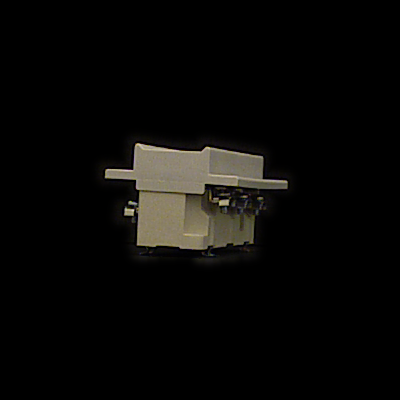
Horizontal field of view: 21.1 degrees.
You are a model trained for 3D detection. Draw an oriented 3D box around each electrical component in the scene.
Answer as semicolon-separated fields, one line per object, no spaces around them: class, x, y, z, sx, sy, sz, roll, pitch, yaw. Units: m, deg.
electrical component;0.000;0.000;0.663;0.078;0.063;0.121;3;1;18
